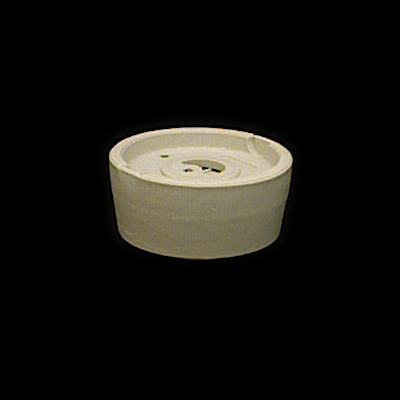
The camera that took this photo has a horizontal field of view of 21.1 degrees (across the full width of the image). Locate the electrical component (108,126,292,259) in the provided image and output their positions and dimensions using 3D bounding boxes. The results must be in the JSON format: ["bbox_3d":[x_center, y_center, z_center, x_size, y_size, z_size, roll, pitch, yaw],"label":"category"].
[{"bbox_3d":[0.000,0.000,0.642,0.108,0.061,0.106,2,21,0],"label":"electrical component"}]
